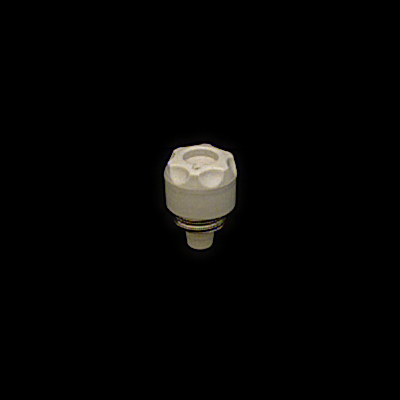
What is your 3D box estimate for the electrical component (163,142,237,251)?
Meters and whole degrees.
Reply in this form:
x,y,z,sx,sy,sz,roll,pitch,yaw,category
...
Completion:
x,y,z,sx,sy,sz,roll,pitch,yaw,category
0.000,0.000,0.642,0.043,0.063,0.043,1,31,0,electrical component
